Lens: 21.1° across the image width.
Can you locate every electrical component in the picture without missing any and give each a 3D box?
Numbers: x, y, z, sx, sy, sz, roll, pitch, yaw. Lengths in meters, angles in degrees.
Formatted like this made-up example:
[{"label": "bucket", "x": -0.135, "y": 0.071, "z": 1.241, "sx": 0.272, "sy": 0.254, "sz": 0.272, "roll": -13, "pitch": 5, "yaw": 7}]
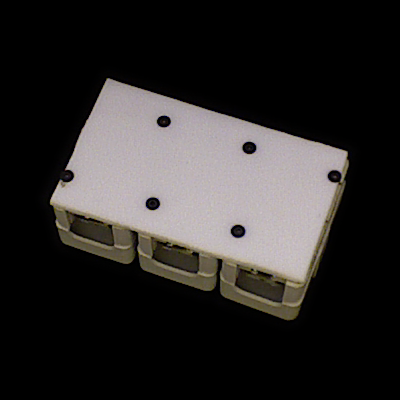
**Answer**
[{"label": "electrical component", "x": 0.000, "y": 0.000, "z": 0.632, "sx": 0.150, "sy": 0.089, "sz": 0.062, "roll": 18, "pitch": -26, "yaw": 9}]
